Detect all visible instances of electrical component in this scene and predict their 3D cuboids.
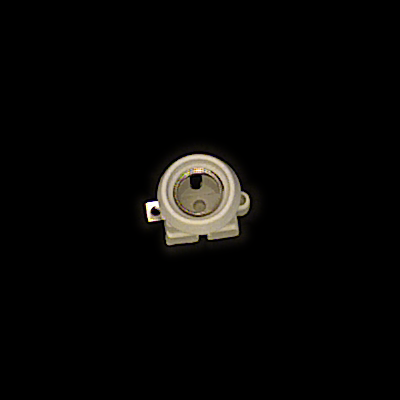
[{"bbox_3d":[0.000,0.000,0.637,0.066,0.048,0.055,-9,-18,-3],"label":"electrical component"}]
